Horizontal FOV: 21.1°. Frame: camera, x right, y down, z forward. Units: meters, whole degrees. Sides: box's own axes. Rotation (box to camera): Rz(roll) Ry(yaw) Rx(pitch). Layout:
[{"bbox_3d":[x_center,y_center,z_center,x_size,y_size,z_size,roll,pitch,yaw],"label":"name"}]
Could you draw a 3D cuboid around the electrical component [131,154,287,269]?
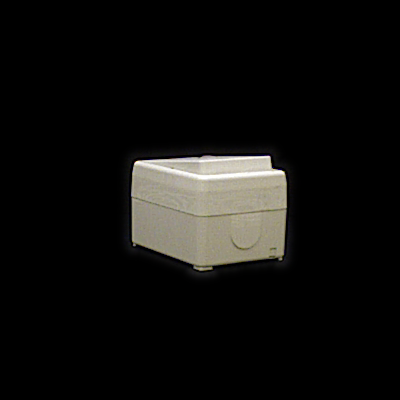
[{"bbox_3d":[0.000,0.000,0.646,0.062,0.061,0.095,-6,12,-33],"label":"electrical component"}]
